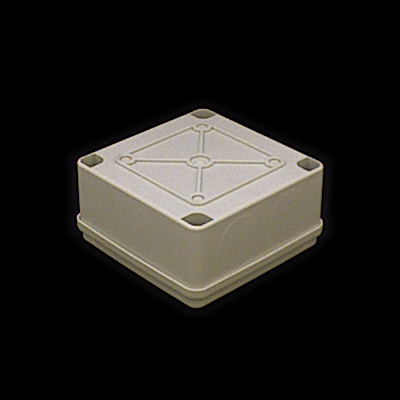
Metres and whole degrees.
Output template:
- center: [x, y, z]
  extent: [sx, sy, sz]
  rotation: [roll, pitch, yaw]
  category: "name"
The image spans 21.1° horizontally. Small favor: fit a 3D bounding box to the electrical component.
- center: [0.000, 0.000, 0.633]
  extent: [0.108, 0.057, 0.107]
  rotation: [-26, 40, -36]
  category: "electrical component"
